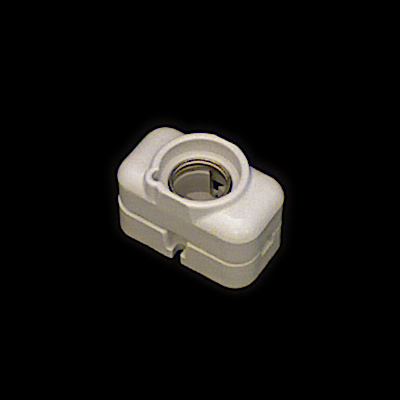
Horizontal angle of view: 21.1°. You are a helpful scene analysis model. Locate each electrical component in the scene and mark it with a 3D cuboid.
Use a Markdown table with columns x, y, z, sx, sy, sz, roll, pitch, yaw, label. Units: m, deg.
| x | y | z | sx | sy | sz | roll | pitch | yaw | label |
| --- | --- | --- | --- | --- | --- | --- | --- | --- | --- |
| 0.000 | 0.000 | 0.634 | 0.094 | 0.054 | 0.059 | 27 | -33 | 18 | electrical component |
